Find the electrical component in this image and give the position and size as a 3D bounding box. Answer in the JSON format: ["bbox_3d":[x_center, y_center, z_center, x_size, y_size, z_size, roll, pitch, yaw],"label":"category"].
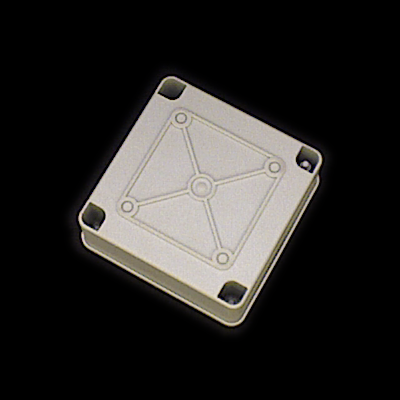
[{"bbox_3d":[0.000,0.000,0.628,0.109,0.109,0.056,28,-15,8],"label":"electrical component"}]
